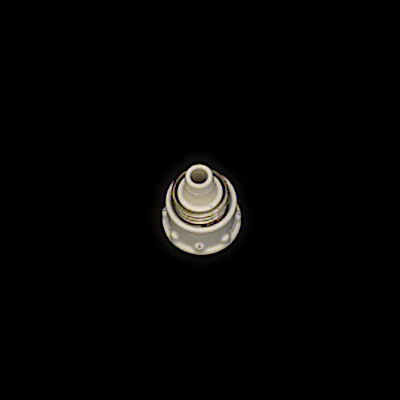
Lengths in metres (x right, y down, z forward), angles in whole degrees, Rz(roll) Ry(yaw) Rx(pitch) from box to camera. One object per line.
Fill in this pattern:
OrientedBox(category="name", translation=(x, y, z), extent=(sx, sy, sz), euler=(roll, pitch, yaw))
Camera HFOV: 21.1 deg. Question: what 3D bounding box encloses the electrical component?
OrientedBox(category="electrical component", translation=(0.000, 0.000, 0.633), extent=(0.048, 0.048, 0.062), euler=(0, -28, 1))
